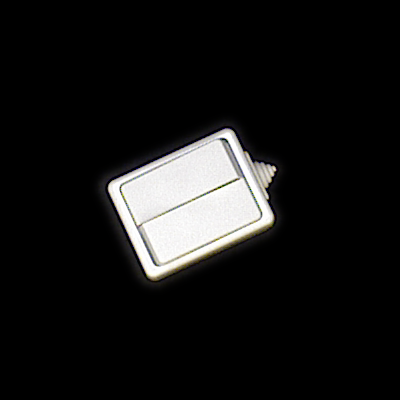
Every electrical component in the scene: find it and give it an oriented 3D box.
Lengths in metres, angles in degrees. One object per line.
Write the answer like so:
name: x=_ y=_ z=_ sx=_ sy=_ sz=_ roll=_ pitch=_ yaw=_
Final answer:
electrical component: x=0.000 y=0.000 z=0.627 sx=0.096 sy=0.062 sz=0.061 roll=-25 pitch=-6 yaw=-2
